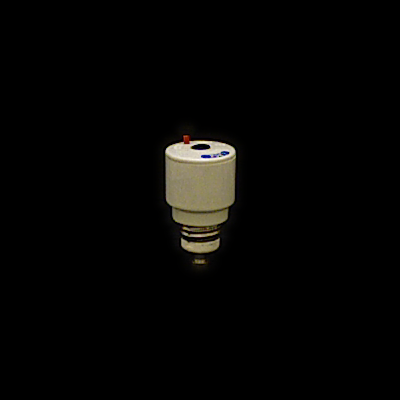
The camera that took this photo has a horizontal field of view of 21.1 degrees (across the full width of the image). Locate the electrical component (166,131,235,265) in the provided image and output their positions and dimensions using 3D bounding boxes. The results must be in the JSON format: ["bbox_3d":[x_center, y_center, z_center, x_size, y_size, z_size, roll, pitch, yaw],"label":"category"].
[{"bbox_3d":[0.000,0.000,0.637,0.040,0.079,0.039,1,21,0],"label":"electrical component"}]
